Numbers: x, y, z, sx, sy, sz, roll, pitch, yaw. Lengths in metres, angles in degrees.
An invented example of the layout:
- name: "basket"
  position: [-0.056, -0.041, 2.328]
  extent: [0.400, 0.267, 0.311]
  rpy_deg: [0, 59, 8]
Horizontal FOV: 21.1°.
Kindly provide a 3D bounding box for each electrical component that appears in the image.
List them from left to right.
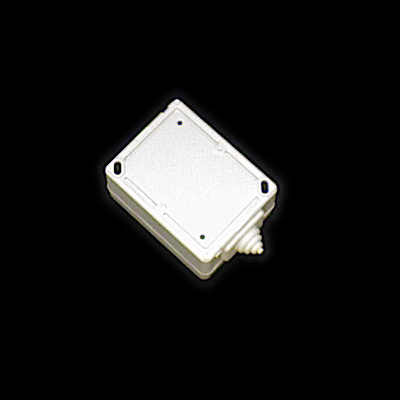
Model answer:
- name: "electrical component"
  position: [0.000, 0.000, 0.625]
  extent: [0.096, 0.062, 0.060]
  rpy_deg: [42, -13, 12]
